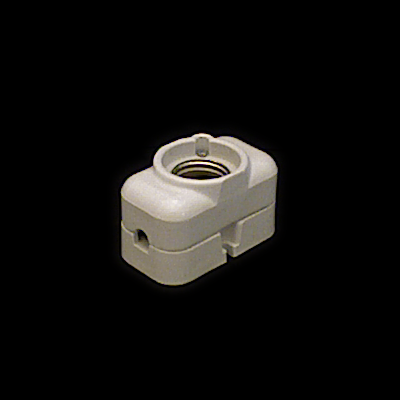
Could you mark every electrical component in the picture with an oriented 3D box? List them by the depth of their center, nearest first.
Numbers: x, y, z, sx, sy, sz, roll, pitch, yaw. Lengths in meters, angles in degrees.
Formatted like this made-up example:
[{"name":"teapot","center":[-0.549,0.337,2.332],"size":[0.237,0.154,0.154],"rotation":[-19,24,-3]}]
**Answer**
[{"name":"electrical component","center":[0.000,0.000,0.642],"size":[0.095,0.060,0.053],"rotation":[-27,42,-37]}]
